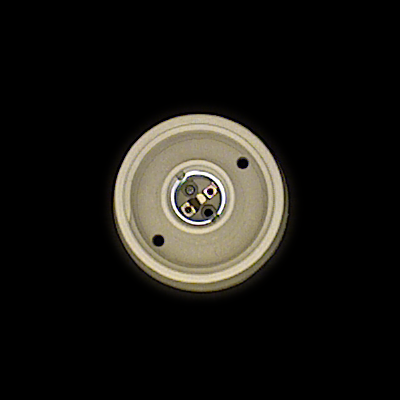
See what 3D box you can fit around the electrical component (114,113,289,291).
[{"bbox_3d":[0.000,0.000,0.635,0.108,0.108,0.060,0,-6,0],"label":"electrical component"}]
